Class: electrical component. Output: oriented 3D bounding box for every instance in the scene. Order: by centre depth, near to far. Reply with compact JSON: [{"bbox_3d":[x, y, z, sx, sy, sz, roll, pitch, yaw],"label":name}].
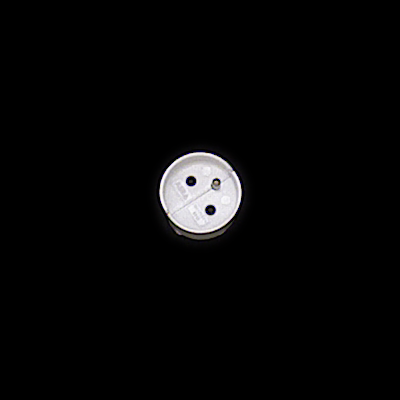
[{"bbox_3d":[0.000,0.000,0.616,0.043,0.043,0.080,0,-6,-1],"label":"electrical component"}]
